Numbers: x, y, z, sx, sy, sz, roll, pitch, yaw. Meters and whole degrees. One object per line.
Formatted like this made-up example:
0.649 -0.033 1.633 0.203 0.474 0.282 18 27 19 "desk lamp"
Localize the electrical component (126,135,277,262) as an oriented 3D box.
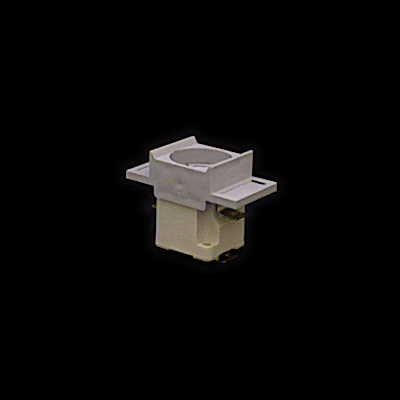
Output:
0.000 0.000 0.639 0.080 0.064 0.042 16 27 34 "electrical component"
